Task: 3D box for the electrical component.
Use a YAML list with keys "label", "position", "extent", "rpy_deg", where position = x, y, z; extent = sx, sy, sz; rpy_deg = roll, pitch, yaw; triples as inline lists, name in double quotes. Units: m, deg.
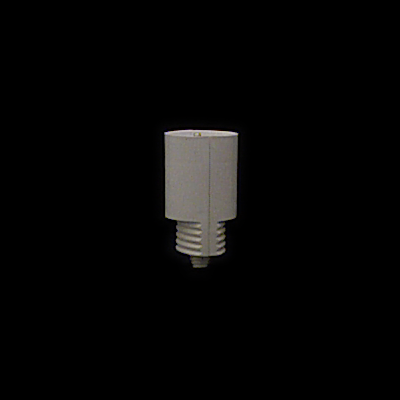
- label: "electrical component"
  position: [0.000, 0.000, 0.642]
  extent: [0.043, 0.081, 0.043]
  rpy_deg: [2, 10, 0]
